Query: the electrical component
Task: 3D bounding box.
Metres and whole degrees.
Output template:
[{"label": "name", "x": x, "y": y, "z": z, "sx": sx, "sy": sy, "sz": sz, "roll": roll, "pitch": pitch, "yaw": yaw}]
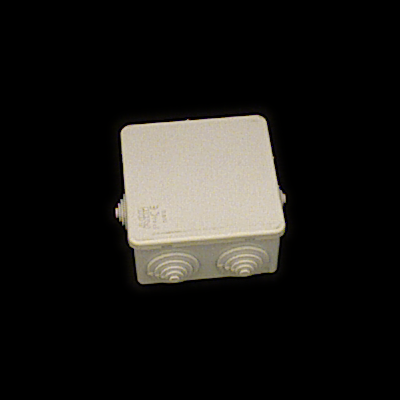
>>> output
[{"label": "electrical component", "x": 0.000, "y": 0.000, "z": 0.639, "sx": 0.100, "sy": 0.099, "sz": 0.048, "roll": -4, "pitch": -37, "yaw": -4}]
